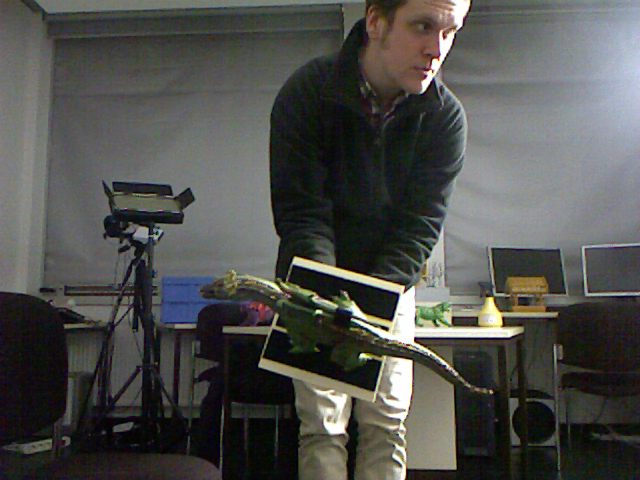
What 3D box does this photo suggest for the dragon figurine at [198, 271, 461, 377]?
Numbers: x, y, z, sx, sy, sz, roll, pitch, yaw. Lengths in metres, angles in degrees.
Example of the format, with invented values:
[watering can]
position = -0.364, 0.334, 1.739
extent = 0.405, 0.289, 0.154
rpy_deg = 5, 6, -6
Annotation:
[dragon figurine]
position = 0.024, 0.126, 0.759
extent = 0.412, 0.124, 0.240
rpy_deg = 15, -12, 8
